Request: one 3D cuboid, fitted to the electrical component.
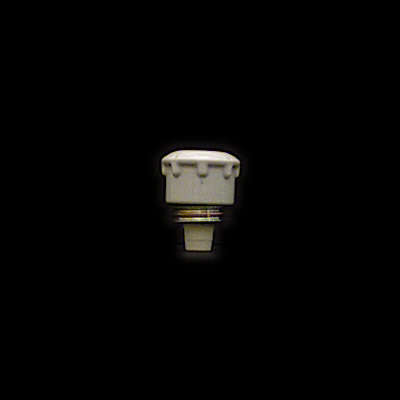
[{"bbox_3d":[0.000,0.000,0.659,0.048,0.062,0.048,1,2,0],"label":"electrical component"}]
